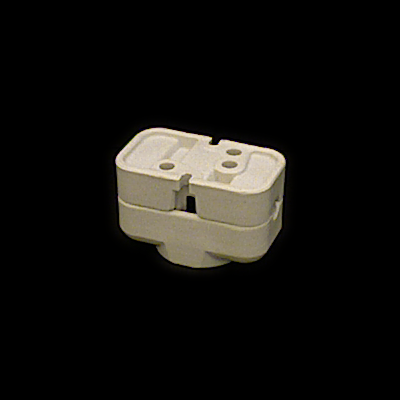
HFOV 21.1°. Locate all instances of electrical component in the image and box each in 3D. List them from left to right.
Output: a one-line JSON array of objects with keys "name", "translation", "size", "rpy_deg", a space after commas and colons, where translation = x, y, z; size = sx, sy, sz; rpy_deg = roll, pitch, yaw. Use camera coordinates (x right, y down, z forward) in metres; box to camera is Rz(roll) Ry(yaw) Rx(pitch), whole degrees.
[{"name": "electrical component", "translation": [0.000, 0.000, 0.644], "size": [0.094, 0.060, 0.053], "rpy_deg": [12, 34, 17]}]
